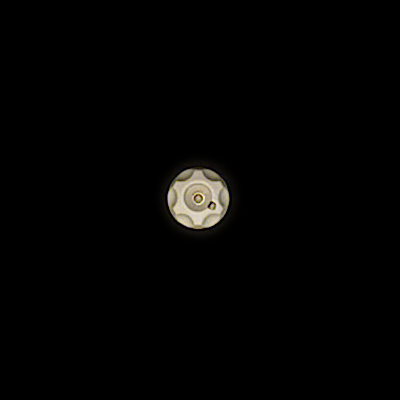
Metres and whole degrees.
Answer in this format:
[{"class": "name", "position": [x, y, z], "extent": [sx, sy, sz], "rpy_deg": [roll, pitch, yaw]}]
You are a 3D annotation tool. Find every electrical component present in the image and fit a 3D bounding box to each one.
[{"class": "electrical component", "position": [0.000, 0.000, 0.634], "extent": [0.035, 0.035, 0.061], "rpy_deg": [0, -5, 1]}]
